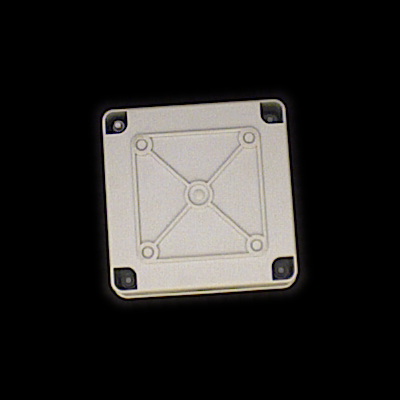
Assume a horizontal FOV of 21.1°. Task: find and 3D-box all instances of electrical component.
[{"bbox_3d":[0.000,0.000,0.629,0.109,0.109,0.056,-4,-7,0],"label":"electrical component"}]
